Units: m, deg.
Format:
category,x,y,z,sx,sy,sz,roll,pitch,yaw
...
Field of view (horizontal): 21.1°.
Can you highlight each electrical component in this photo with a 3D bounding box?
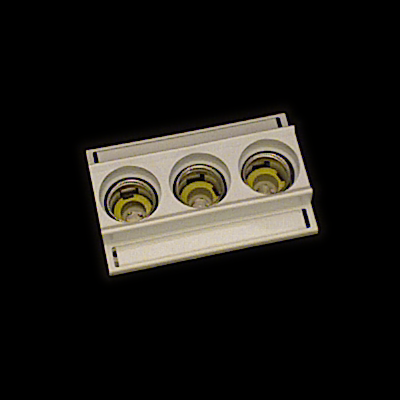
category,x,y,z,sx,sy,sz,roll,pitch,yaw
electrical component,0.000,0.000,0.637,0.121,0.078,0.063,-11,-25,-5
